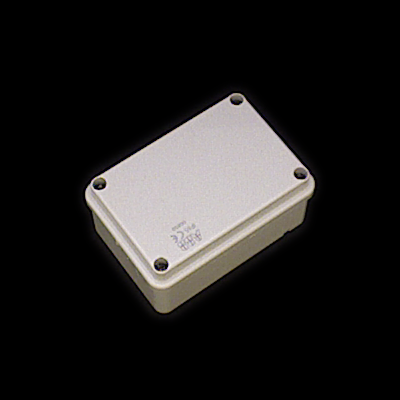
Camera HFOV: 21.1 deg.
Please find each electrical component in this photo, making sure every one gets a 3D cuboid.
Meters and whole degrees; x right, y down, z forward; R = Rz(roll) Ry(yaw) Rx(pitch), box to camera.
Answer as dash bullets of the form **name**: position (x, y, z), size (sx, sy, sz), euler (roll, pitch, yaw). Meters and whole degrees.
- **electrical component**: position (0.000, 0.000, 0.626), size (0.113, 0.078, 0.057), euler (-33, -22, -16)
